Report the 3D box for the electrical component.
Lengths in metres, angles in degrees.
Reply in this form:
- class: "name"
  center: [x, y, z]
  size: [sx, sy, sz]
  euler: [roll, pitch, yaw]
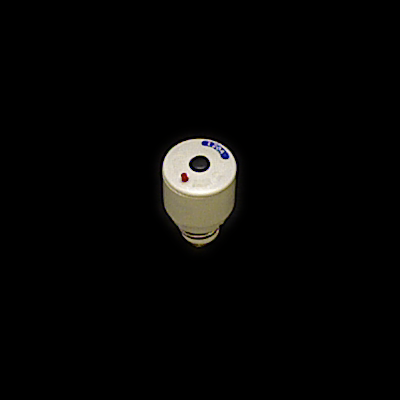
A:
- class: "electrical component"
  center: [0.000, 0.000, 0.619]
  size: [0.040, 0.040, 0.078]
  euler: [0, -37, 0]
